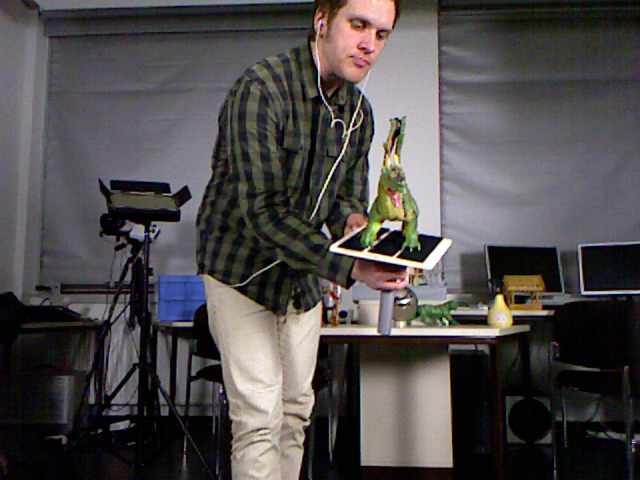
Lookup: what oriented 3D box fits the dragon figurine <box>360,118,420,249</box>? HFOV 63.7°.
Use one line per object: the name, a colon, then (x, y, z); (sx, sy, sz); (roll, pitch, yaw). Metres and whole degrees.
dragon figurine: (0.160, -0.124, 1.049); (0.122, 0.240, 0.418); (7, 20, 7)
